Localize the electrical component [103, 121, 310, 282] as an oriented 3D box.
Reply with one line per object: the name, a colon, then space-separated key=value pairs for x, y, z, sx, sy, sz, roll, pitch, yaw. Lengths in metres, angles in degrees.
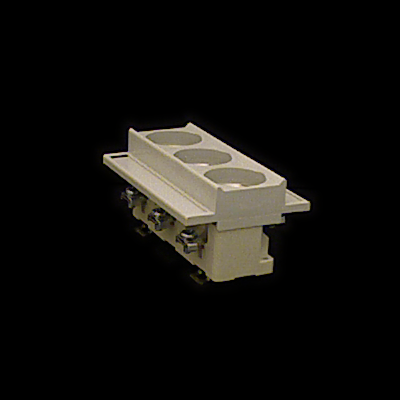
electrical component: x=0.000 y=0.000 z=0.653 sx=0.079 sy=0.064 sz=0.119 roll=-8 pitch=23 yaw=-26
